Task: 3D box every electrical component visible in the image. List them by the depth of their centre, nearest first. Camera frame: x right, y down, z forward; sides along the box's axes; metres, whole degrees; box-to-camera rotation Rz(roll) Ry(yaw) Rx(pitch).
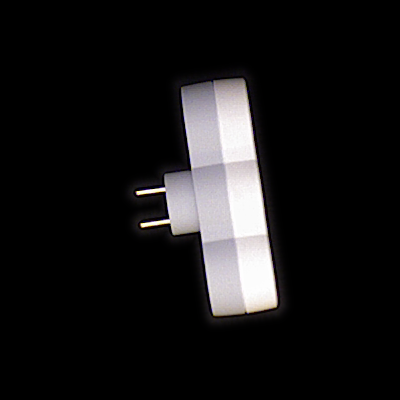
[{"bbox_3d":[0.000,0.000,0.631,0.074,0.138,0.052,-8,-6,1],"label":"electrical component"}]
